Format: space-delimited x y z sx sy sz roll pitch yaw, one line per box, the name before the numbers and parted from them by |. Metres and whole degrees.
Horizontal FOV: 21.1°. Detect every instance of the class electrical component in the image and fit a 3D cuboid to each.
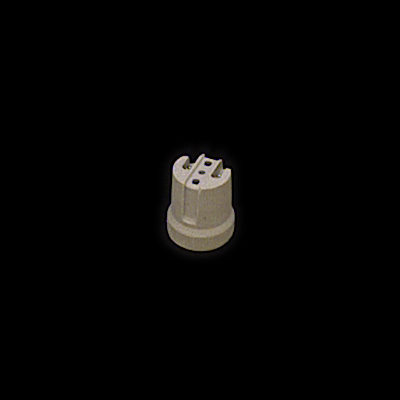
electrical component | 0.000 0.000 0.636 0.040 0.046 0.040 1 43 0
